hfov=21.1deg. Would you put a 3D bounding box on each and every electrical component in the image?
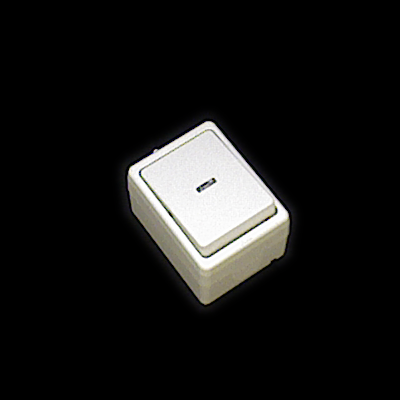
[{"bbox_3d":[0.000,0.000,0.627,0.062,0.096,0.061,-32,-23,-15],"label":"electrical component"}]
